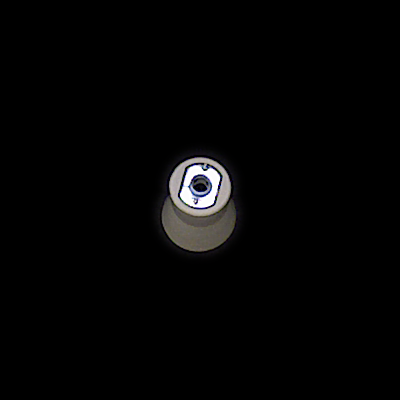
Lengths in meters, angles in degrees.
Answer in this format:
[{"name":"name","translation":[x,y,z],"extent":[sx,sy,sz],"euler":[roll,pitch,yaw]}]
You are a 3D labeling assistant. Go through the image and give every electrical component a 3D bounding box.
[{"name":"electrical component","translation":[0.000,0.000,0.624],"extent":[0.044,0.044,0.065],"euler":[0,-17,-1]}]
